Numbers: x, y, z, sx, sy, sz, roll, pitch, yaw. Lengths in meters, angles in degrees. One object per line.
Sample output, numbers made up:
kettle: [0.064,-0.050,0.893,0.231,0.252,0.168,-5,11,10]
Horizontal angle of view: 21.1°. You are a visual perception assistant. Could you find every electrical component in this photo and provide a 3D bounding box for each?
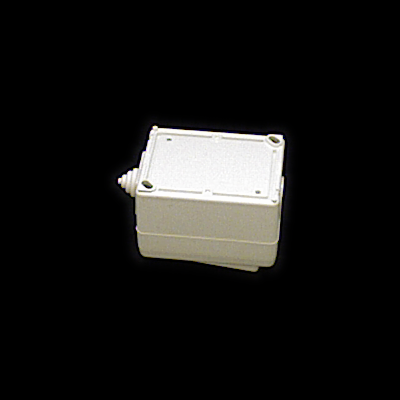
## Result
electrical component: [0.000,0.000,0.629,0.096,0.061,0.061,5,42,4]
